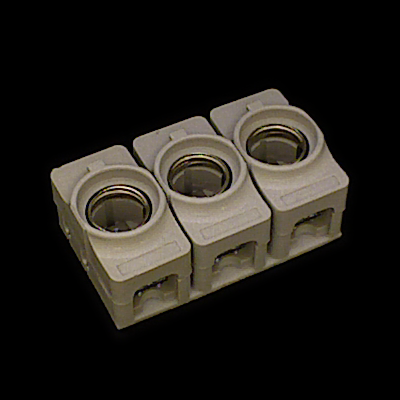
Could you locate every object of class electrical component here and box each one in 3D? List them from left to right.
[{"bbox_3d":[0.000,0.000,0.634,0.150,0.088,0.062,-22,-35,-17],"label":"electrical component"}]
